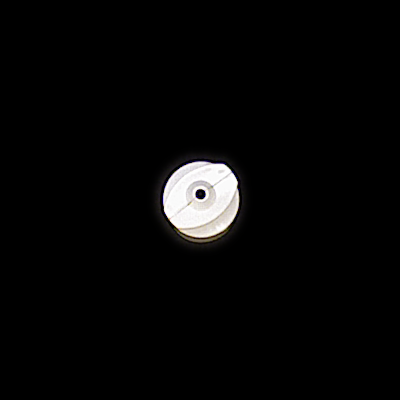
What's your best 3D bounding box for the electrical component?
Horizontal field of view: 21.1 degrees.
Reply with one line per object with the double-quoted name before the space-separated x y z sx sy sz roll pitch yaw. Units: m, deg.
"electrical component" 0.000 0.000 0.616 0.043 0.043 0.080 0 -6 1
